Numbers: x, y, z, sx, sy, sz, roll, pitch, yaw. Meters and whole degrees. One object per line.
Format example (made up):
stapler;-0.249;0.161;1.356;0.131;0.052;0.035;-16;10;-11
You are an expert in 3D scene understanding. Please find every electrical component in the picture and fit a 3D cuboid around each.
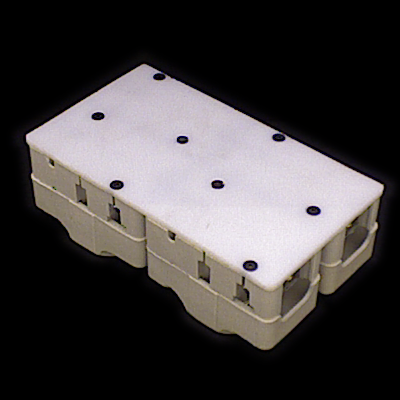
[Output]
electrical component;0.000;0.000;0.630;0.185;0.061;0.105;30;50;28
